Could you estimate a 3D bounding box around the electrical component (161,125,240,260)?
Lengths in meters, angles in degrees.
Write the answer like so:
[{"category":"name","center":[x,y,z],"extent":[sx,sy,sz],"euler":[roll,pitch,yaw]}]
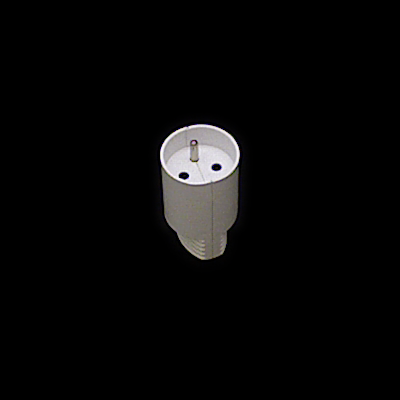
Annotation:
[{"category":"electrical component","center":[0.000,0.000,0.619],"extent":[0.043,0.043,0.081],"euler":[0,-39,-1]}]
